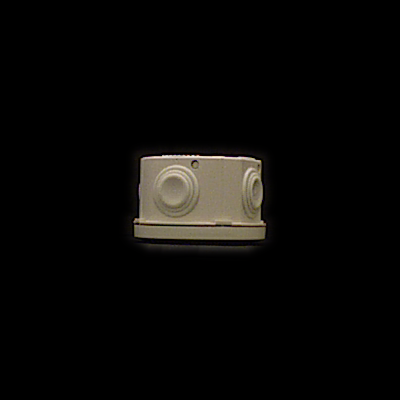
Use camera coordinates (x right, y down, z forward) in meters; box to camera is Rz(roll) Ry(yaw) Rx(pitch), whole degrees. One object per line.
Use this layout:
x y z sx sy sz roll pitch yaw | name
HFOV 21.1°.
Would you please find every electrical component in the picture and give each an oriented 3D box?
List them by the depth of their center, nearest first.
0.000 0.000 0.651 0.080 0.051 0.080 1 0 0 | electrical component
